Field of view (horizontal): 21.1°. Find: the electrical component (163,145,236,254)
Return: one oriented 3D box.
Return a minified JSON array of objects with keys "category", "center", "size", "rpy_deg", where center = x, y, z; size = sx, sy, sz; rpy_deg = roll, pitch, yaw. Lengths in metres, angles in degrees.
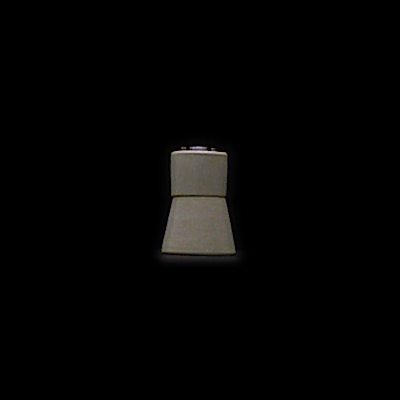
[{"category":"electrical component","center":[0.000,0.000,0.652],"size":[0.044,0.065,0.044],"rpy_deg":[0,0,0]}]
